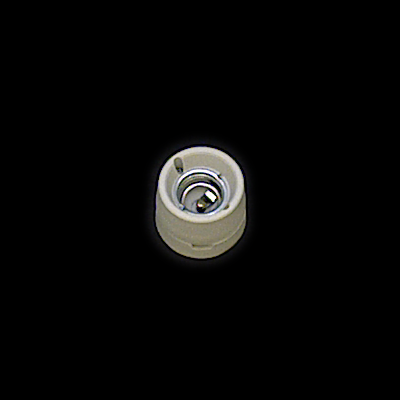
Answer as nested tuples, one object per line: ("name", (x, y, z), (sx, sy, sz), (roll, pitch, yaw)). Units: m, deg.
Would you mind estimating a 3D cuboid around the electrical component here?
("electrical component", (0.000, 0.000, 0.632), (0.055, 0.056, 0.047), (0, -26, 0))
